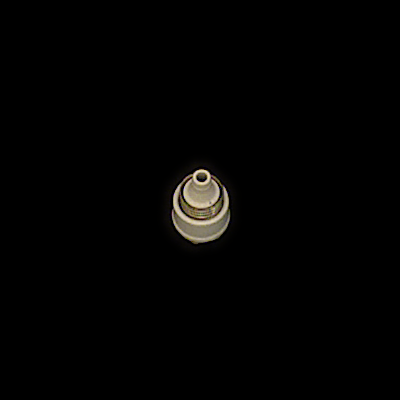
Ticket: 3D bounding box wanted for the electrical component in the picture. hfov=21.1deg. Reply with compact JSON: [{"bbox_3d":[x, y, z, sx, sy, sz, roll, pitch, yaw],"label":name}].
[{"bbox_3d":[0.000,0.000,0.638,0.035,0.035,0.061,0,-26,-1],"label":"electrical component"}]
